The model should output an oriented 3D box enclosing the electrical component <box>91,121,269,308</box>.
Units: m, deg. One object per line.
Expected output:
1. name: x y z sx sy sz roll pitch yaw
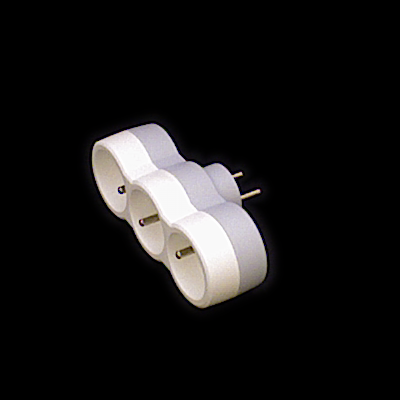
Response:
1. electrical component: 0.000 0.000 0.635 0.074 0.052 0.137 -22 46 -26
